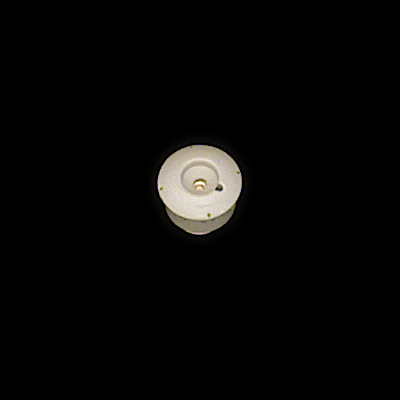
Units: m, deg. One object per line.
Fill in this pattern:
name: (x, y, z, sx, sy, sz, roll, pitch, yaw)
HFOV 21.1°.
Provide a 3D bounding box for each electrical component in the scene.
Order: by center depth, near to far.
electrical component: (0.000, 0.000, 0.635, 0.048, 0.048, 0.062, 0, -27, 0)
